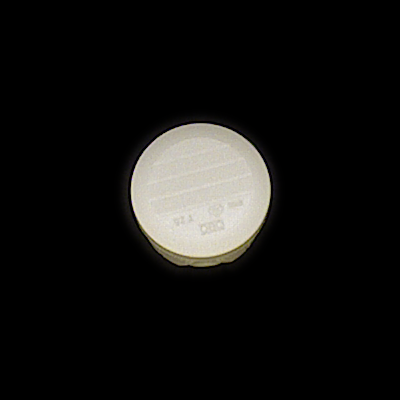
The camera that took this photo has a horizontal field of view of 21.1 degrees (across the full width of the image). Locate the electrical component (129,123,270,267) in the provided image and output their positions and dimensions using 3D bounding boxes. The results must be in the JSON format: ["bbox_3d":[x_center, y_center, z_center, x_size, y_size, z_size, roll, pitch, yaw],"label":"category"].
[{"bbox_3d":[0.000,0.000,0.629,0.080,0.080,0.050,0,-17,0],"label":"electrical component"}]
